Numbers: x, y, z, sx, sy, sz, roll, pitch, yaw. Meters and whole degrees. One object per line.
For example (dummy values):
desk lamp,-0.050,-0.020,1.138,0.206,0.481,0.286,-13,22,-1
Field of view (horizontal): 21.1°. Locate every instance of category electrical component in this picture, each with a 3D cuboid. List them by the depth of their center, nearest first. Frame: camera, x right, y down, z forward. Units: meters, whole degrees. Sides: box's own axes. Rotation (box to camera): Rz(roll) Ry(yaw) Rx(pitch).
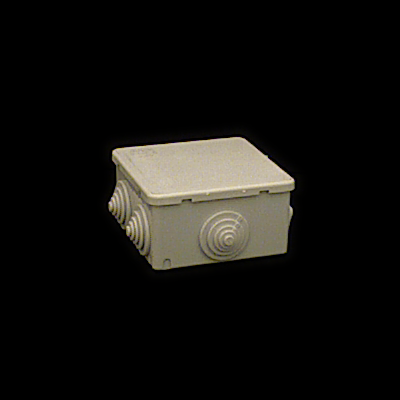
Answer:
electrical component,0.000,0.000,0.648,0.100,0.049,0.098,-6,23,-18
